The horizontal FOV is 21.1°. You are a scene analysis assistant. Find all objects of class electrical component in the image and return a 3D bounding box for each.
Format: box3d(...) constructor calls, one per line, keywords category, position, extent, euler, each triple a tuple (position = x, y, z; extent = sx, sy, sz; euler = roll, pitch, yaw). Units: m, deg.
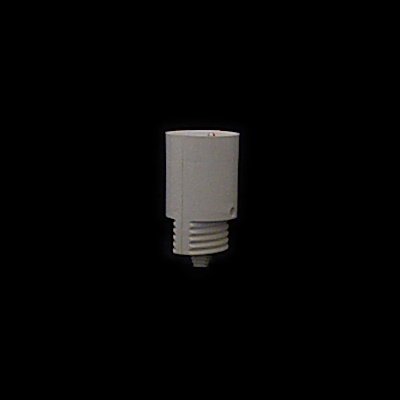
box3d(category="electrical component", position=(0.000, 0.000, 0.644), extent=(0.043, 0.082, 0.043), euler=(2, 11, 0))
